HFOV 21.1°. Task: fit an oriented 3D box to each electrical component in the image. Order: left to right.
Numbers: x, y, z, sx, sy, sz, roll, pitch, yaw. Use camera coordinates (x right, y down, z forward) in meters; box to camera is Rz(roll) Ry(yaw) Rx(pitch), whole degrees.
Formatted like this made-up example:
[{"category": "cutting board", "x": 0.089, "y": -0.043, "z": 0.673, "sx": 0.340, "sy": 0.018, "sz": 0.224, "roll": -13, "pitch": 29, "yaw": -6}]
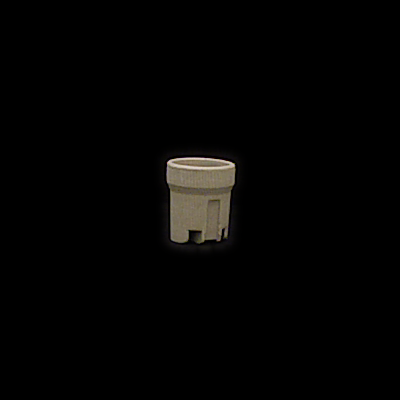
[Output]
[{"category": "electrical component", "x": 0.000, "y": 0.000, "z": 0.642, "sx": 0.040, "sy": 0.046, "sz": 0.040, "roll": 1, "pitch": 11, "yaw": 0}]
